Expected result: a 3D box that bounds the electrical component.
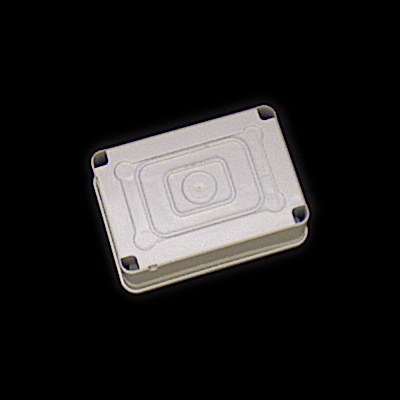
[{"bbox_3d":[0.000,0.000,0.628,0.113,0.078,0.057,-16,-16,-6],"label":"electrical component"}]
